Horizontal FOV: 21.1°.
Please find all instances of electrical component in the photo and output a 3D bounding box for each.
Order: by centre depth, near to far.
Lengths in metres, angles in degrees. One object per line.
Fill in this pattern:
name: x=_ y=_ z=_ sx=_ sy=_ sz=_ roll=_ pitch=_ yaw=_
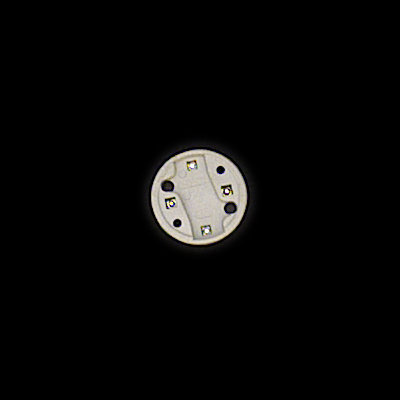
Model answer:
electrical component: x=0.000 y=0.000 z=0.636 sx=0.055 sy=0.055 sz=0.047 roll=0 pitch=-6 yaw=0
